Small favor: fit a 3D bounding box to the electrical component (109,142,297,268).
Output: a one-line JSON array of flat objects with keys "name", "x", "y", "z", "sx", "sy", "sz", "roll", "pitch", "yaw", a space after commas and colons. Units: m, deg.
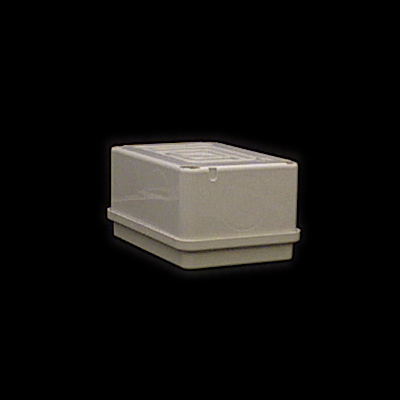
[{"name": "electrical component", "x": 0.000, "y": 0.000, "z": 0.644, "sx": 0.078, "sy": 0.057, "sz": 0.112, "roll": -4, "pitch": 11, "yaw": -27}]
